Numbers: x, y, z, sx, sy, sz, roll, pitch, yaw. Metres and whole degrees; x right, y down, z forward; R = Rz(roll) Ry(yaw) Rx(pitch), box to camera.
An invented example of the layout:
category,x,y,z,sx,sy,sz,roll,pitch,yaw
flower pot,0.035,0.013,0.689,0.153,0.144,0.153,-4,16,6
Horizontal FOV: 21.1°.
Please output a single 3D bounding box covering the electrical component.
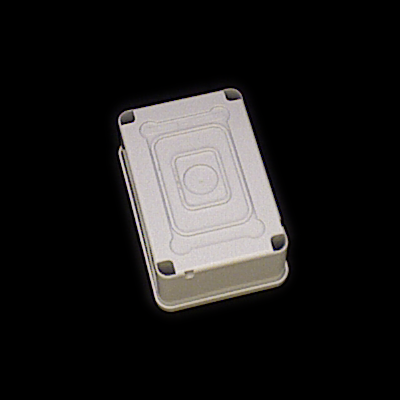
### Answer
category,x,y,z,sx,sy,sz,roll,pitch,yaw
electrical component,0.000,0.000,0.628,0.078,0.113,0.057,-13,-27,-6
